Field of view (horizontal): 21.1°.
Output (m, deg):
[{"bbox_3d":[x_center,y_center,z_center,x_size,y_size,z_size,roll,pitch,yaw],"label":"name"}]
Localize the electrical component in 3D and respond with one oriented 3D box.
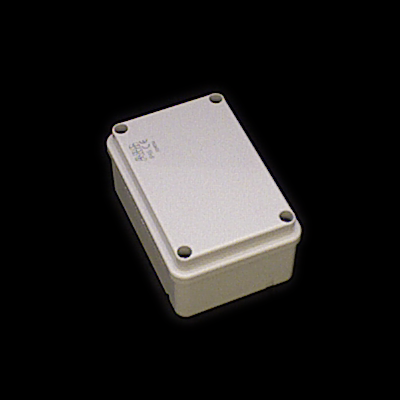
[{"bbox_3d":[0.000,0.000,0.628,0.078,0.112,0.057,-19,-35,-14],"label":"electrical component"}]
